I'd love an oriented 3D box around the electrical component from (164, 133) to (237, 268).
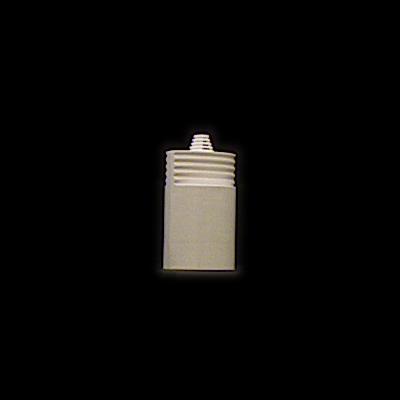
[{"bbox_3d":[0.000,0.000,0.650,0.043,0.081,0.043,1,1,0],"label":"electrical component"}]
